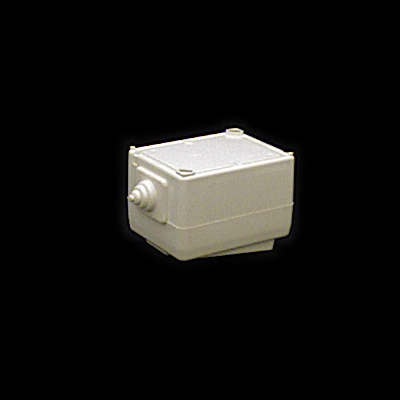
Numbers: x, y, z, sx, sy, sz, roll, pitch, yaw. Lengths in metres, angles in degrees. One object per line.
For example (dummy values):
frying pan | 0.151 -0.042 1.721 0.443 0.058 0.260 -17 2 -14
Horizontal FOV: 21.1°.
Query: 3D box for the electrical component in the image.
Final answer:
electrical component | 0.000 0.000 0.633 0.096 0.061 0.061 -12 25 -32
